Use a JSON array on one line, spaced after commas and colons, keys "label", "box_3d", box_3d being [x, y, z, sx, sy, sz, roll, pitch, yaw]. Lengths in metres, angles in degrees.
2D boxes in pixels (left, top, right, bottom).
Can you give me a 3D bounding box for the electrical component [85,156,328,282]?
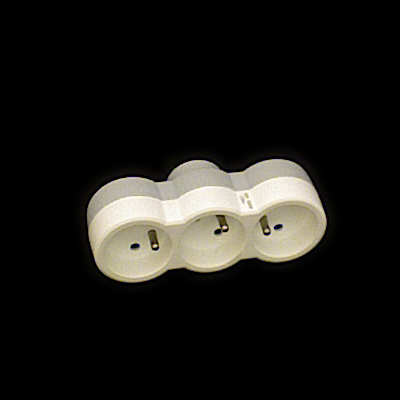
[{"label": "electrical component", "box_3d": [0.000, 0.000, 0.643, 0.138, 0.053, 0.073, -7, 42, -9]}]
